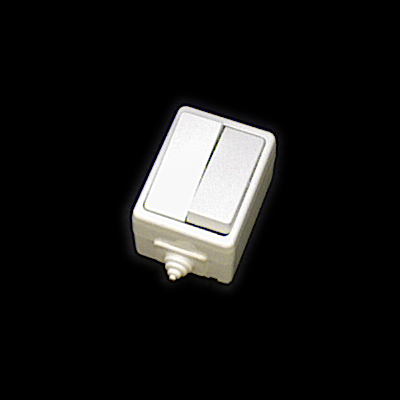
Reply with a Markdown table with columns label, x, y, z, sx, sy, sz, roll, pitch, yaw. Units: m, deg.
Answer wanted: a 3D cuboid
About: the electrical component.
| label | x | y | z | sx | sy | sz | roll | pitch | yaw |
| --- | --- | --- | --- | --- | --- | --- | --- | --- | --- |
| electrical component | 0.000 | 0.000 | 0.625 | 0.061 | 0.097 | 0.060 | 18 | -26 | 10 |
